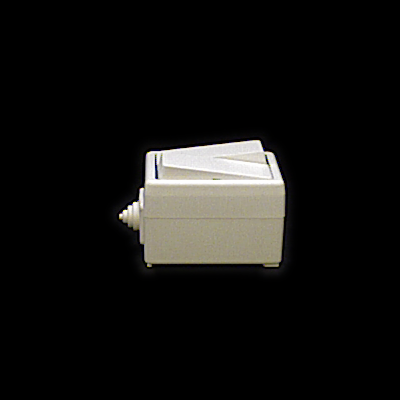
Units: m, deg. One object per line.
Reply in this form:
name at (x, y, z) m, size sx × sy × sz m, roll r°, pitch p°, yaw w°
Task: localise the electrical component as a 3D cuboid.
electrical component at (0.000, 0.000, 0.639) m, size 0.096 × 0.061 × 0.061 m, roll 0°, pitch 21°, yaw -3°
